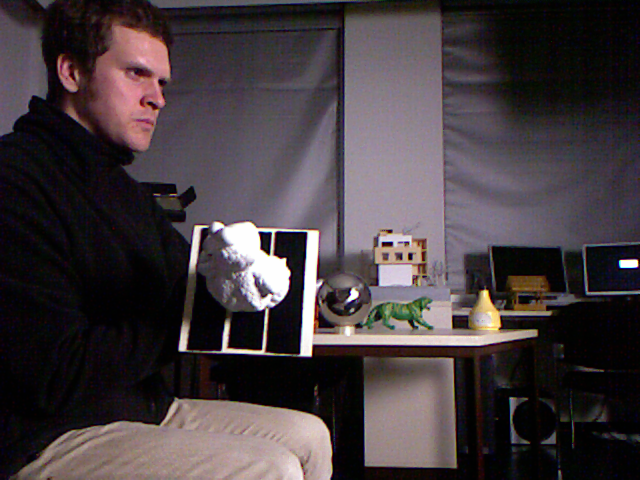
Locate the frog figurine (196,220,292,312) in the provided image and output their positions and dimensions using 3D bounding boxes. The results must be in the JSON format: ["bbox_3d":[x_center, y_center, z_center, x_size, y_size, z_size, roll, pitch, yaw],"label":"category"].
[{"bbox_3d":[-0.112,0.040,0.743,0.138,0.124,0.158,22,-13,10],"label":"frog figurine"}]
